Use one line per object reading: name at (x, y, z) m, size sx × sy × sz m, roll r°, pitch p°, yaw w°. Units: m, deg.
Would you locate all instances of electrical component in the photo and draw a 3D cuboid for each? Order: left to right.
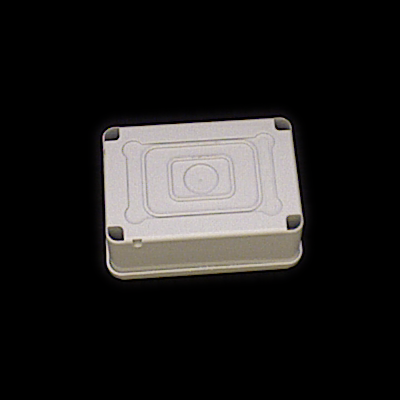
electrical component at (0.000, 0.000, 0.628) m, size 0.113 × 0.078 × 0.057 m, roll -3°, pitch -27°, yaw -2°
